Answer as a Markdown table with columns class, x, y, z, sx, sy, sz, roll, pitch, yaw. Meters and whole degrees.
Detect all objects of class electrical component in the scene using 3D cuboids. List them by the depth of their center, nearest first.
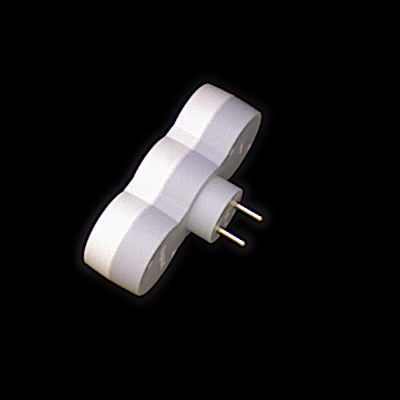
| class | x | y | z | sx | sy | sz | roll | pitch | yaw |
| --- | --- | --- | --- | --- | --- | --- | --- | --- | --- |
| electrical component | 0.000 | 0.000 | 0.632 | 0.073 | 0.138 | 0.052 | 30 | -24 | 12 |
